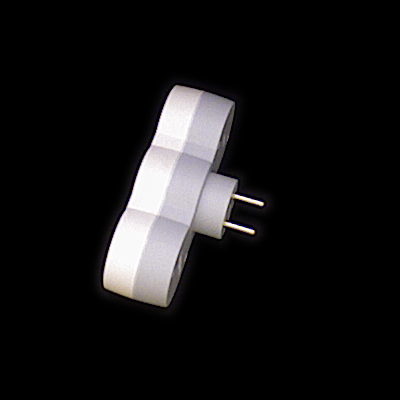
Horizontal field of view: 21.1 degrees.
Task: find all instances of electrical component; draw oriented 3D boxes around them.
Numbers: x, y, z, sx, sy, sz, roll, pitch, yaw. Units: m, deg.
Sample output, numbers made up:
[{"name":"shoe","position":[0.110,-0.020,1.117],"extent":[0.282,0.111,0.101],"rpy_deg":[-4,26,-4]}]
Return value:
[{"name":"electrical component","position":[0.000,0.000,0.632],"extent":[0.074,0.138,0.052],"rpy_deg":[16,-27,6]}]
